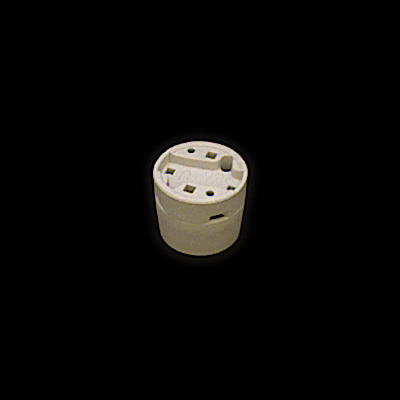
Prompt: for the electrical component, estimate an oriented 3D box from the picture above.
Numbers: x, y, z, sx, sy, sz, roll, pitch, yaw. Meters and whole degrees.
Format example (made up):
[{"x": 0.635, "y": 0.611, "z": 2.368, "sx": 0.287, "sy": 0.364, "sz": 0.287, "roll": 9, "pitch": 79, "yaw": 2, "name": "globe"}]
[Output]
[{"x": 0.000, "y": 0.000, "z": 0.636, "sx": 0.055, "sy": 0.047, "sz": 0.055, "roll": 0, "pitch": 42, "yaw": 0, "name": "electrical component"}]
